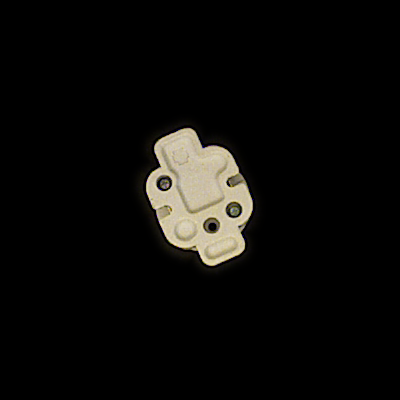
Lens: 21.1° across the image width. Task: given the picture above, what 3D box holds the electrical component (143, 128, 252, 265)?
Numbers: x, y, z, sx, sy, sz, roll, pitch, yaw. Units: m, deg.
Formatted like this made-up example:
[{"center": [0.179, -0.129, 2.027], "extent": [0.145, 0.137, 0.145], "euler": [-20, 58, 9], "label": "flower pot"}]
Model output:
[{"center": [0.000, 0.000, 0.637], "extent": [0.058, 0.078, 0.056], "euler": [-25, -7, -1], "label": "electrical component"}]
